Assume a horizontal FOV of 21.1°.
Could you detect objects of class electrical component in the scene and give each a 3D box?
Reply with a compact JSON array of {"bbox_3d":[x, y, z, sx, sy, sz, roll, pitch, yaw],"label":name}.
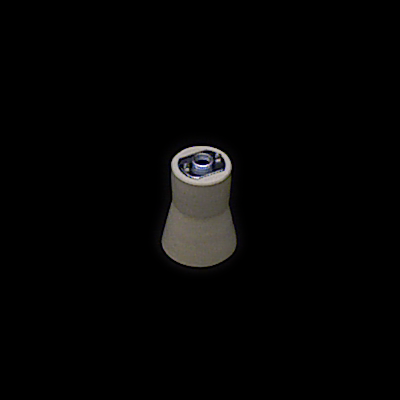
[{"bbox_3d":[0.000,0.000,0.628,0.044,0.066,0.044,1,42,-1],"label":"electrical component"}]
